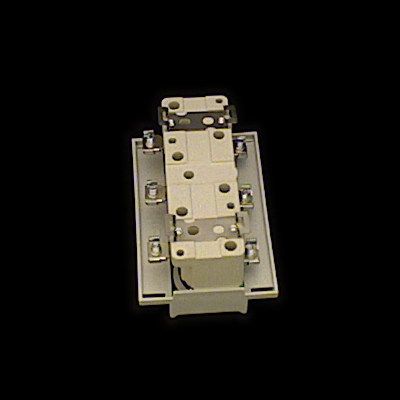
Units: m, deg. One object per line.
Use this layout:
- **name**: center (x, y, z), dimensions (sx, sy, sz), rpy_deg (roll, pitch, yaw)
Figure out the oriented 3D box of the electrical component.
- **electrical component**: center (0.000, 0.000, 0.636), dimensions (0.079, 0.120, 0.063), rpy_deg (-3, -37, -3)
